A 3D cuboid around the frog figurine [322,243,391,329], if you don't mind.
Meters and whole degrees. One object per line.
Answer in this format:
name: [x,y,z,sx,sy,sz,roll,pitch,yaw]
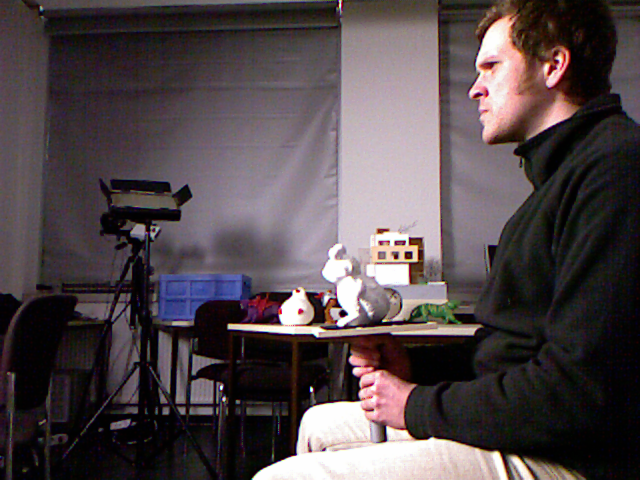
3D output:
frog figurine: [0.068,0.085,0.958,0.122,0.160,0.137,-5,-3,16]
